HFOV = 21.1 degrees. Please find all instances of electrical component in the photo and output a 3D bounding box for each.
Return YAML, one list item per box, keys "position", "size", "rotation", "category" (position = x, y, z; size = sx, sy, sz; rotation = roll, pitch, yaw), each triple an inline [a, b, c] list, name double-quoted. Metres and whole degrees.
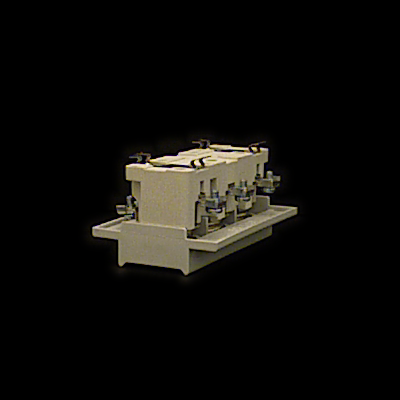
- position: [0.000, 0.000, 0.651]
  size: [0.078, 0.063, 0.121]
  rotation: [6, 11, 25]
  category: "electrical component"
